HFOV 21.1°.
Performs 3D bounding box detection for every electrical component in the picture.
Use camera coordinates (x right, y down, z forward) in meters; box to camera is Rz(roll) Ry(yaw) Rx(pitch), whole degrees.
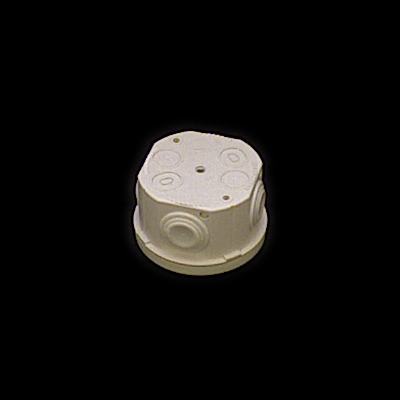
[{"bbox_3d":[0.000,0.000,0.635,0.080,0.051,0.079,0,42,0],"label":"electrical component"}]
